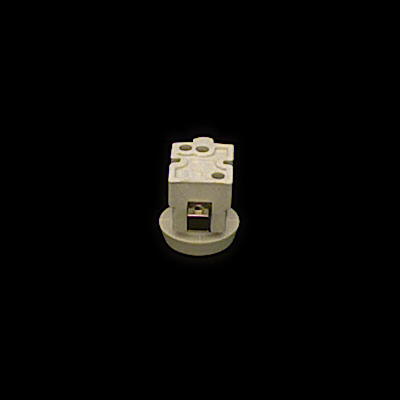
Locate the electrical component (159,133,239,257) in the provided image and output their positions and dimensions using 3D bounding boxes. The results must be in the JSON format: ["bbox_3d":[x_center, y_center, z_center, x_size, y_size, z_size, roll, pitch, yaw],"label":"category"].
[{"bbox_3d":[0.000,0.000,0.644,0.048,0.056,0.066,3,33,1],"label":"electrical component"}]
